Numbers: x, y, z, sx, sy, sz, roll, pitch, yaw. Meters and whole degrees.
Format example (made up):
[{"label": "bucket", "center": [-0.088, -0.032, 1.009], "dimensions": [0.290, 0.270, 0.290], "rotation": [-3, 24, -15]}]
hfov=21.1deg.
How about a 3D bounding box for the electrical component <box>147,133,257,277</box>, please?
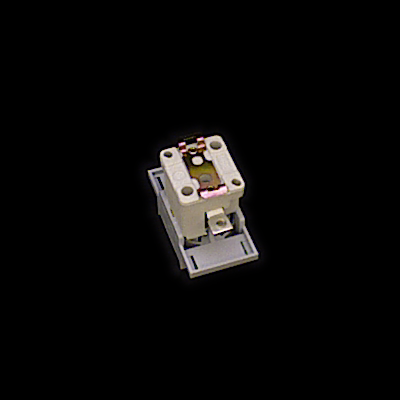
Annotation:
[{"label": "electrical component", "center": [0.000, 0.000, 0.627], "dimensions": [0.042, 0.080, 0.064], "rotation": [-16, -35, -12]}]
